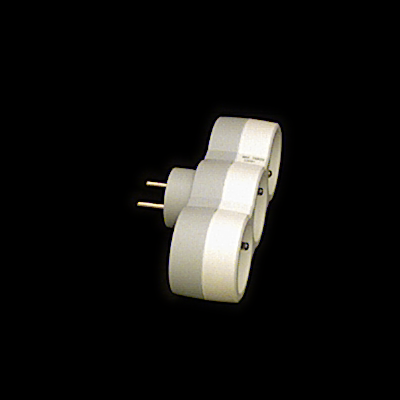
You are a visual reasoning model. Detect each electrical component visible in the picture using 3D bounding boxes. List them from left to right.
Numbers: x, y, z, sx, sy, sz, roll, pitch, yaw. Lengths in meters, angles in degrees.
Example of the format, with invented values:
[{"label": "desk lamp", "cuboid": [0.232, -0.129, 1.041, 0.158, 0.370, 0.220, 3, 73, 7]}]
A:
[{"label": "electrical component", "cuboid": [0.000, 0.000, 0.642, 0.073, 0.053, 0.137, 9, 43, 11]}]
